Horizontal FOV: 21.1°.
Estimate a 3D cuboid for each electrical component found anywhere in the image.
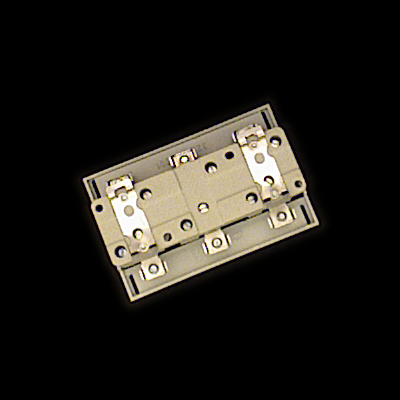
[{"bbox_3d":[0.000,0.000,0.635,0.121,0.079,0.063,-22,-6,-2],"label":"electrical component"}]
